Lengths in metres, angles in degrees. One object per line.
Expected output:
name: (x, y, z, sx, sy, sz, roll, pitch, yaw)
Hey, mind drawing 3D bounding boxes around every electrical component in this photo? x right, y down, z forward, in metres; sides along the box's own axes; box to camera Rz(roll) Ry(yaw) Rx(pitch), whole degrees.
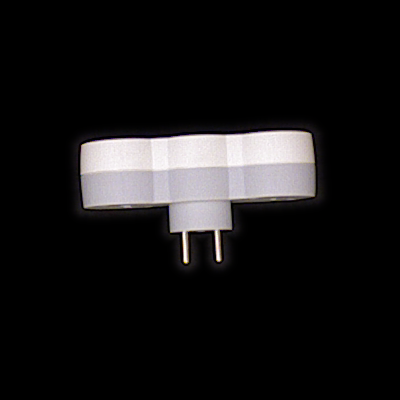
electrical component: (0.000, 0.000, 0.632, 0.138, 0.074, 0.052, -3, -5, -1)
